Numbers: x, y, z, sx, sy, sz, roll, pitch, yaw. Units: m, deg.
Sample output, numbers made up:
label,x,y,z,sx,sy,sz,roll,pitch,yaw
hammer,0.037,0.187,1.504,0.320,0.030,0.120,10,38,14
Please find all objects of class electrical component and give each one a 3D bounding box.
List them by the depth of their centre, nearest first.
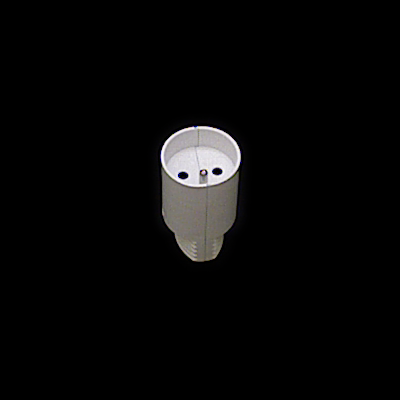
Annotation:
label,x,y,z,sx,sy,sz,roll,pitch,yaw
electrical component,0.000,0.000,0.618,0.043,0.043,0.081,0,-37,0
